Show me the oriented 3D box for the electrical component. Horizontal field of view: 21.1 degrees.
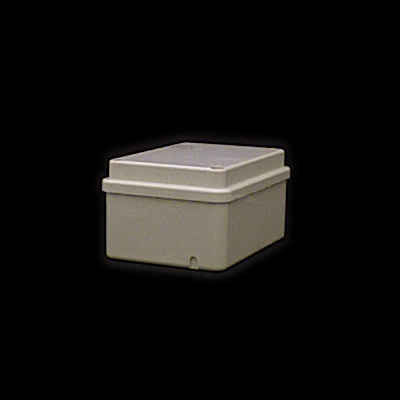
[{"bbox_3d":[0.000,0.000,0.645,0.078,0.057,0.113,6,11,23],"label":"electrical component"}]
